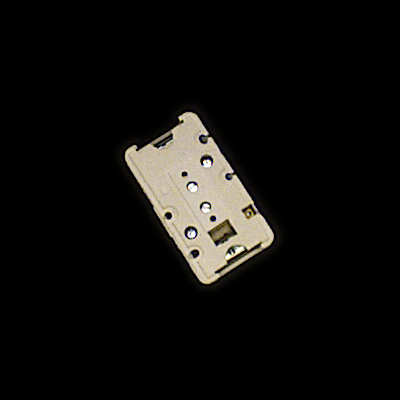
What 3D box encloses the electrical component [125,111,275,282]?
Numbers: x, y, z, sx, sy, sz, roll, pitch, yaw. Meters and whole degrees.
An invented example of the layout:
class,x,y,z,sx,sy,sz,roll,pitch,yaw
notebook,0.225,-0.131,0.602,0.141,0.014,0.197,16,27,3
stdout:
class,x,y,z,sx,sy,sz,roll,pitch,yaw
electrical component,0.000,0.000,0.637,0.050,0.089,0.055,-32,-5,-3
